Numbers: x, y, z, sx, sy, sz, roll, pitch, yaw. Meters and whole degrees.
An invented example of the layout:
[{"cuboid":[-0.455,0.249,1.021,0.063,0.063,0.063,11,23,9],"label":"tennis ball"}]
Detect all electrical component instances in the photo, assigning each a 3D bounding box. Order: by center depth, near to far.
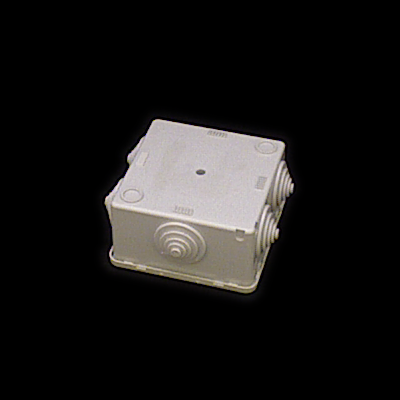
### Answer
[{"cuboid":[0.000,0.000,0.633,0.099,0.049,0.099,11,43,11],"label":"electrical component"}]
